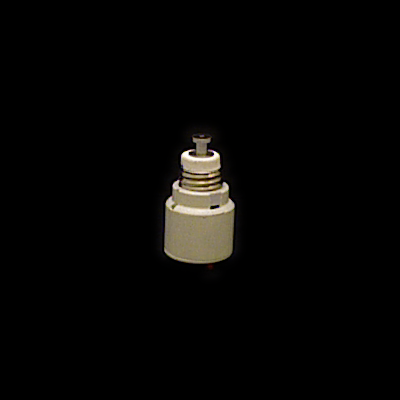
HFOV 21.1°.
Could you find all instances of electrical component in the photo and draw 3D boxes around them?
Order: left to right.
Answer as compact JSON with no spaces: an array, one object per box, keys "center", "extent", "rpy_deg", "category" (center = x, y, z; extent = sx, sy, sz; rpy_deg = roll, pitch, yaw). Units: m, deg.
[{"center":[0.000,0.000,0.635],"extent":[0.040,0.079,0.039],"rpy_deg":[2,20,0],"category":"electrical component"}]
